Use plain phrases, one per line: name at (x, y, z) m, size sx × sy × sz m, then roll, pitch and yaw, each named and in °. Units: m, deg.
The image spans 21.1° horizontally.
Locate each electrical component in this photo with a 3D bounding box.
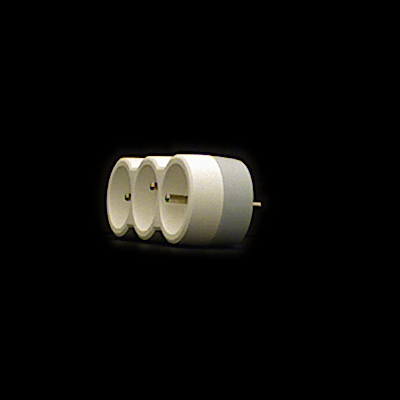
electrical component at (0.000, 0.000, 0.656) m, size 0.074 × 0.052 × 0.137 m, roll 2°, pitch 0°, yaw -25°
